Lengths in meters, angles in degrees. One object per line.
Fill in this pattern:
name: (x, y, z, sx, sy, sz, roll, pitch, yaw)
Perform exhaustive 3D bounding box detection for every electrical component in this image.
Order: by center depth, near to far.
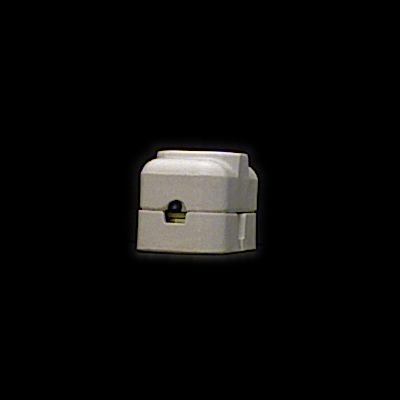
electrical component: (0.000, 0.000, 0.657, 0.053, 0.059, 0.095, 2, 1, 17)
